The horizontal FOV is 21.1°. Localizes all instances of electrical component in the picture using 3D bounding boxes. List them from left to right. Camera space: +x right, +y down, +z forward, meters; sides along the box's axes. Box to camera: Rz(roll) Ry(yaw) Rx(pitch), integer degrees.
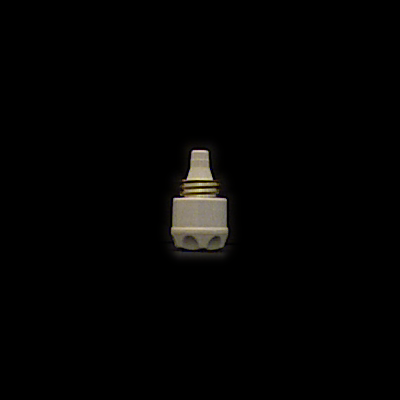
[{"bbox_3d":[0.000,0.000,0.660,0.035,0.061,0.035,0,0,0],"label":"electrical component"}]
